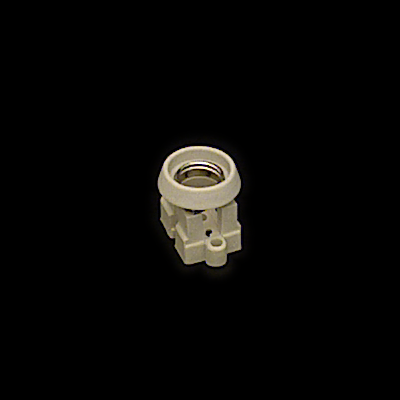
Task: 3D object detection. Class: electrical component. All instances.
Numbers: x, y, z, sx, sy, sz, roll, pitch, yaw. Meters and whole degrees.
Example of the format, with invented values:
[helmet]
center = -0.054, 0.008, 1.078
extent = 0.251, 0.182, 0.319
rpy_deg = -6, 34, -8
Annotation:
[electrical component]
center = 0.000, 0.000, 0.640
extent = 0.049, 0.056, 0.065
rpy_deg = -15, 45, -19
